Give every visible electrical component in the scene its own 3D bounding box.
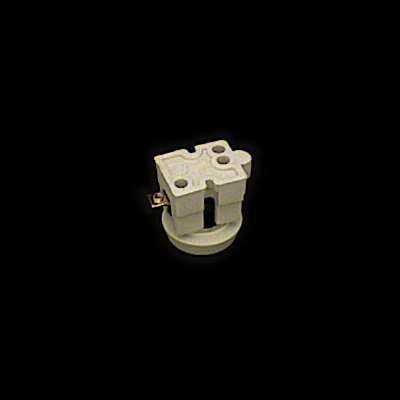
[{"bbox_3d":[0.000,0.000,0.641,0.067,0.056,0.048,-14,46,-14],"label":"electrical component"}]
